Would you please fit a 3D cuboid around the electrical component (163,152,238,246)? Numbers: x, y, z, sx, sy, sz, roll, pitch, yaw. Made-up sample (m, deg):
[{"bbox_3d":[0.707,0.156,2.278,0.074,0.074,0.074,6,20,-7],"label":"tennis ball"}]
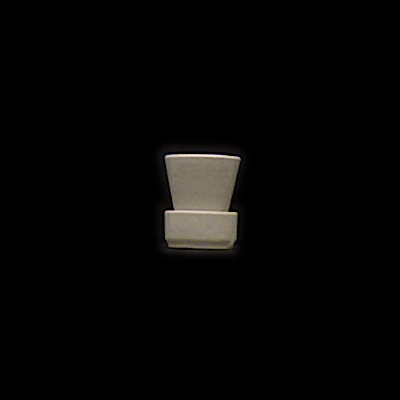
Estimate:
[{"bbox_3d":[0.000,0.000,0.651,0.045,0.055,0.045,2,1,0],"label":"electrical component"}]
